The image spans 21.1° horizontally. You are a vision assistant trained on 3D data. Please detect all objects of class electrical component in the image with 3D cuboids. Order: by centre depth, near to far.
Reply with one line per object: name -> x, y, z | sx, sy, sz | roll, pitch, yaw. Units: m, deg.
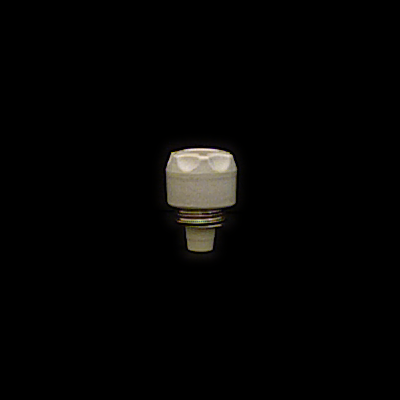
electrical component -> 0.000, 0.000, 0.652 | 0.043, 0.062, 0.043 | 1, 11, 0
